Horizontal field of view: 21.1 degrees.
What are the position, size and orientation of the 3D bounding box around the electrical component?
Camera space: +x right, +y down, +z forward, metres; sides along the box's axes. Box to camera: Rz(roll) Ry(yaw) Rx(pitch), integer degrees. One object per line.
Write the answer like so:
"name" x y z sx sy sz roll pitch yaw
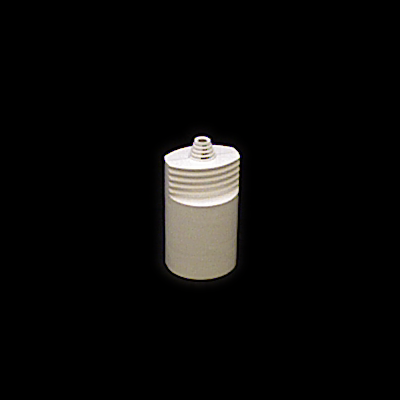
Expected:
"electrical component" 0.000 0.000 0.629 0.043 0.082 0.042 1 31 0
